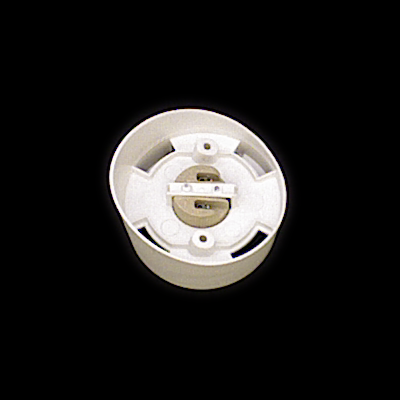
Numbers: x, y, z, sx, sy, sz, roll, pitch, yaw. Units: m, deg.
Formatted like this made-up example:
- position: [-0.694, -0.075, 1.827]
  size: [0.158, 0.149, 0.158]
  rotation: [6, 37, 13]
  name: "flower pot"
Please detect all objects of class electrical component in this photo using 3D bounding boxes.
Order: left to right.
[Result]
- position: [0.000, 0.000, 0.624]
  size: [0.099, 0.099, 0.064]
  rotation: [0, -27, 1]
  name: "electrical component"
